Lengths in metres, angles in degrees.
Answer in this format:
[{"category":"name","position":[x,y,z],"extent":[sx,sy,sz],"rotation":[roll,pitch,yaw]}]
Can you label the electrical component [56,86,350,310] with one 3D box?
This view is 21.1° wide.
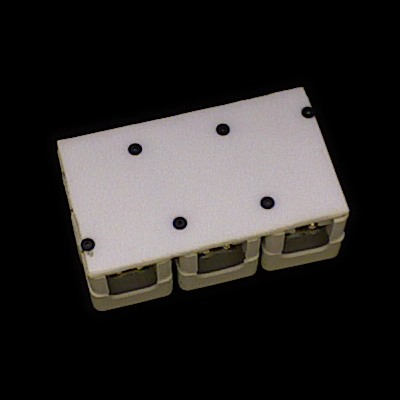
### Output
[{"category":"electrical component","position":[0.000,0.000,0.633],"extent":[0.150,0.089,0.062],"rotation":[-13,-26,-7]}]
